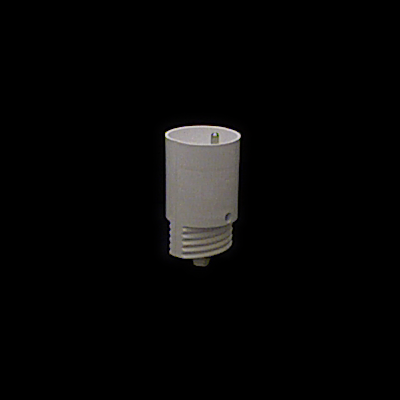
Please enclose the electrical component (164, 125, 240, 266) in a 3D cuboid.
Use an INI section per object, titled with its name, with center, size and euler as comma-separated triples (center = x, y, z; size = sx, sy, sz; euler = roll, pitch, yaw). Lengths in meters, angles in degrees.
[electrical component]
center = 0.000, 0.000, 0.637
size = 0.043, 0.082, 0.042
euler = 2, 21, 0
